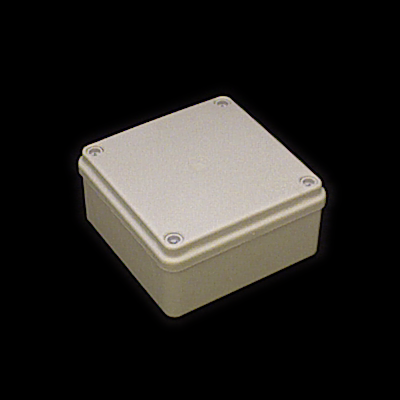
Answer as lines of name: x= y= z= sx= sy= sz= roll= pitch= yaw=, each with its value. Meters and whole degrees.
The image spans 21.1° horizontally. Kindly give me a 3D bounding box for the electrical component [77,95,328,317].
electrical component: x=0.000 y=0.000 z=0.633 sx=0.109 sy=0.057 sz=0.107 roll=-23 pitch=47 yaw=-24
